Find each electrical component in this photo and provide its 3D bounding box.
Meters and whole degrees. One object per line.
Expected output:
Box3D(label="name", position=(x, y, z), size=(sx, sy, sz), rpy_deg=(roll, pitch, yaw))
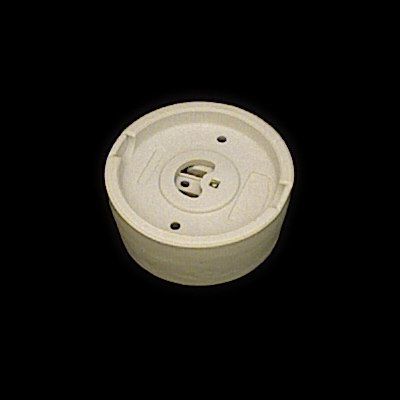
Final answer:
Box3D(label="electrical component", position=(0.000, 0.000, 0.636), size=(0.108, 0.107, 0.060), rpy_deg=(0, -37, 0))
